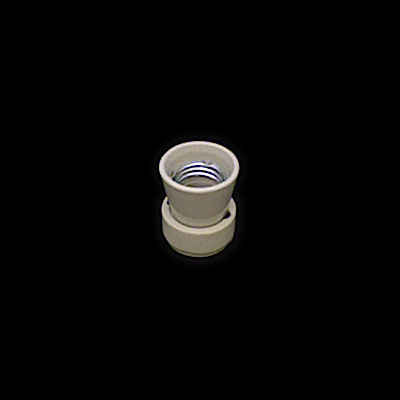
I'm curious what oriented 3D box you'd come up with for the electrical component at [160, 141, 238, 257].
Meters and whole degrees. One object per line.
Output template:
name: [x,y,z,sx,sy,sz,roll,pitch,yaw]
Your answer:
electrical component: [0.000,0.000,0.630,0.045,0.055,0.044,0,42,0]
